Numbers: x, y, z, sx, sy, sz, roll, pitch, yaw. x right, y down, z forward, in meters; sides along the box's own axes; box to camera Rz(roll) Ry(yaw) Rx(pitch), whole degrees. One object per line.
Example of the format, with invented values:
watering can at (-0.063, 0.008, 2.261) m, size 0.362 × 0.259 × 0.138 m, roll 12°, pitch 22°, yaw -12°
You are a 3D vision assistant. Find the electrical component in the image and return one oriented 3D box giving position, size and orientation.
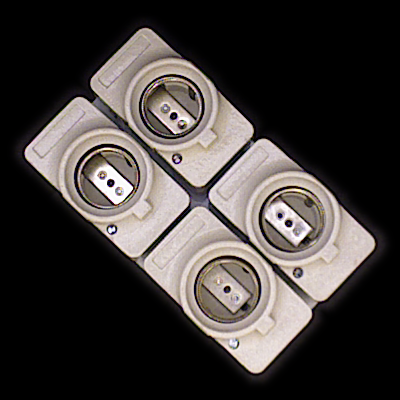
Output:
electrical component at (0.000, 0.000, 0.626) m, size 0.186 × 0.106 × 0.060 m, roll 43°, pitch -5°, yaw 4°
